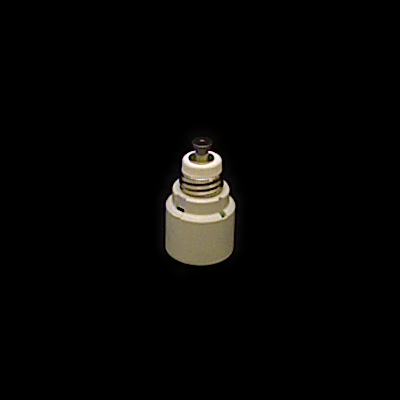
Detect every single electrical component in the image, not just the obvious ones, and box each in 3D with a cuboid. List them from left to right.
[{"bbox_3d":[0.000,0.000,0.631,0.040,0.079,0.039,2,32,-1],"label":"electrical component"}]
